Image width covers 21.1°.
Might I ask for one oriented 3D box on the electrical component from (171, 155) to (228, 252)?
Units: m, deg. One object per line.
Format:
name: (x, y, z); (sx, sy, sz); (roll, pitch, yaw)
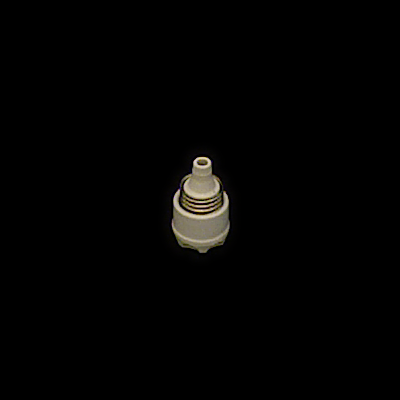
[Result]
electrical component: (0.000, 0.000, 0.643); (0.035, 0.062, 0.035); (1, 42, -1)
